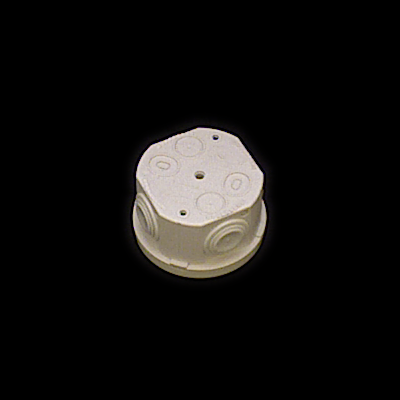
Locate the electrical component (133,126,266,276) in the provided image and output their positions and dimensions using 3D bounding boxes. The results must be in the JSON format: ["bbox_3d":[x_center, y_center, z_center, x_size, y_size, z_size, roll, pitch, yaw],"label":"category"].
[{"bbox_3d":[0.000,0.000,0.633,0.080,0.080,0.051,0,-38,-1],"label":"electrical component"}]
